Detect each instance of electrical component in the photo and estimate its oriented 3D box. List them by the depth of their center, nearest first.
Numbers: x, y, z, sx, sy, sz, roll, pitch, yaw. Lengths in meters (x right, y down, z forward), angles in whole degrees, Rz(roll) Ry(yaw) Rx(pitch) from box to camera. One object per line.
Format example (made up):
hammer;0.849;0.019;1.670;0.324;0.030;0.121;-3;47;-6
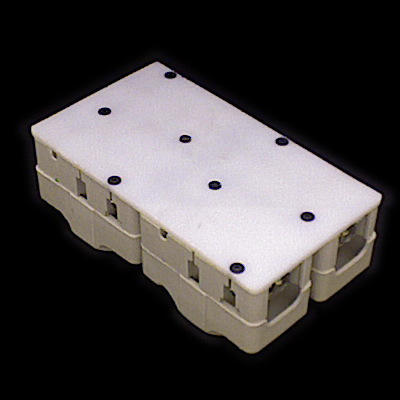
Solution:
electrical component;0.000;0.000;0.630;0.105;0.061;0.185;-33;52;-32
